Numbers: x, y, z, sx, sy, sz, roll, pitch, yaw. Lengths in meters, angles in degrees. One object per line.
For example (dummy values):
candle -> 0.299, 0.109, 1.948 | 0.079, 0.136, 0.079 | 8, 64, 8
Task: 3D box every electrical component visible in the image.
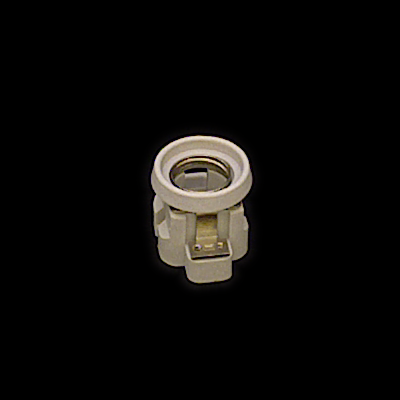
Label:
electrical component -> 0.000, 0.000, 0.630 | 0.058, 0.057, 0.077 | -6, 43, -7
